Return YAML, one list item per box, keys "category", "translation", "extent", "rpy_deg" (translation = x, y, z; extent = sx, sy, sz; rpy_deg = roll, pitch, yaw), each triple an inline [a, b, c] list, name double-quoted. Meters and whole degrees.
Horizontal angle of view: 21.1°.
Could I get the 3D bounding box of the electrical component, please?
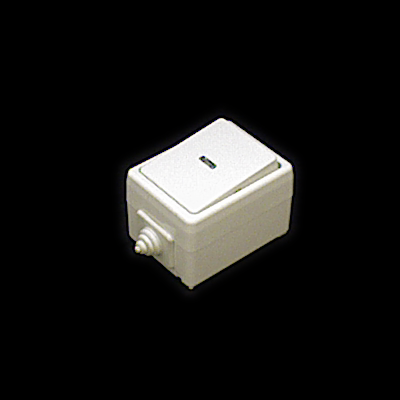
- category: "electrical component"
  translation: [0.000, 0.000, 0.629]
  extent: [0.096, 0.061, 0.061]
  rpy_deg: [-29, 50, -29]
